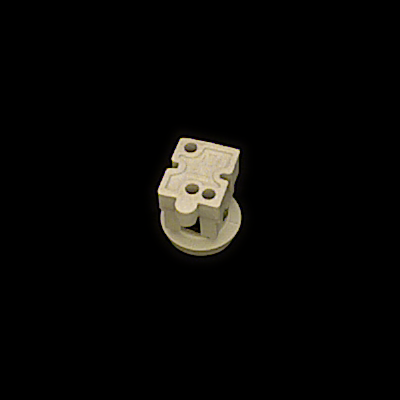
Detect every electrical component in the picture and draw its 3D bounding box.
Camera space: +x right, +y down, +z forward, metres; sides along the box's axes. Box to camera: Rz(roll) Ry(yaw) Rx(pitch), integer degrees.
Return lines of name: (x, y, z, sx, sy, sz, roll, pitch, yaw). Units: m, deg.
electrical component: (0.000, 0.000, 0.638, 0.048, 0.066, 0.055, 13, -37, 11)
